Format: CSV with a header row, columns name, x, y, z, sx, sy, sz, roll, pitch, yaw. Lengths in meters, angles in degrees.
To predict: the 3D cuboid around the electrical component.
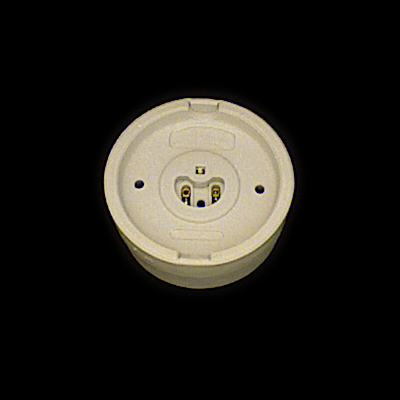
name,x,y,z,sx,sy,sz,roll,pitch,yaw
electrical component,0.000,0.000,0.635,0.108,0.108,0.060,0,-26,0
